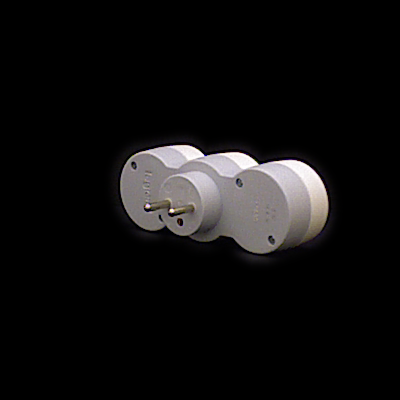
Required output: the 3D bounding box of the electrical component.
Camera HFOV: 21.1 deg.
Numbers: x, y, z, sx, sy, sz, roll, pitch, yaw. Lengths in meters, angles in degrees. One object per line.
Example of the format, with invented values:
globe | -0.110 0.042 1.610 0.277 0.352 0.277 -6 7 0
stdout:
electrical component | 0.000 0.000 0.644 0.137 0.052 0.073 11 16 40
